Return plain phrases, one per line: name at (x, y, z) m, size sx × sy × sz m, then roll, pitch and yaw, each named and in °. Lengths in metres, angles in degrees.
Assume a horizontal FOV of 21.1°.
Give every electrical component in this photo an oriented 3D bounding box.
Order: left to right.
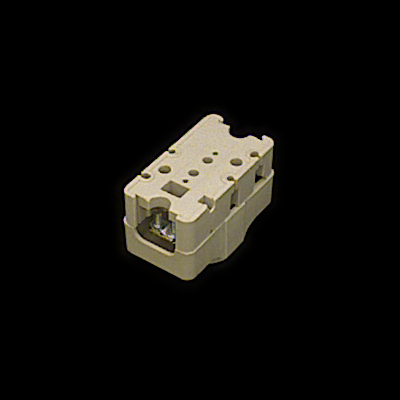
electrical component at (0.000, 0.000, 0.639) m, size 0.050 × 0.056 × 0.089 m, roll 26°, pitch 49°, yaw 24°
